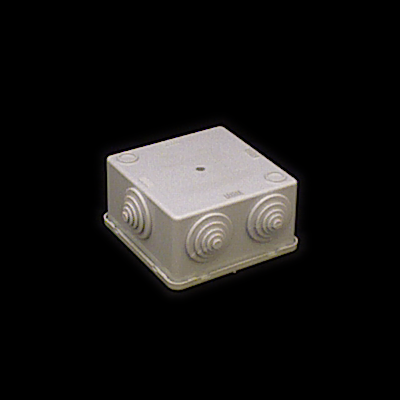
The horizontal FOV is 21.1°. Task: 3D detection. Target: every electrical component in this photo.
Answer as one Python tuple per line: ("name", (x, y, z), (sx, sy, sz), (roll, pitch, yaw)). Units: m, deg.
("electrical component", (0.000, 0.000, 0.638), (0.100, 0.049, 0.098), (-17, 36, -27))
